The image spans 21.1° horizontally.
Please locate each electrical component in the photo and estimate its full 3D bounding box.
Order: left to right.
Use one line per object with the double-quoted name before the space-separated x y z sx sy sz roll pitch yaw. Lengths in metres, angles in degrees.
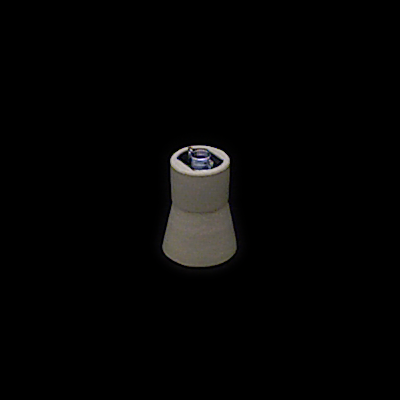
"electrical component" 0.000 0.000 0.632 0.044 0.066 0.044 0 32 0
